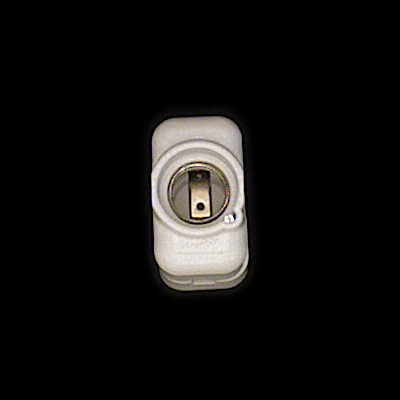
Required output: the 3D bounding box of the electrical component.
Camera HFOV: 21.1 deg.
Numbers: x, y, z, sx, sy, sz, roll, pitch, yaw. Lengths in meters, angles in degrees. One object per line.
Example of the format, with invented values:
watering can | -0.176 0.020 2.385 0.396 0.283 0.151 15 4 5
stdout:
electrical component | 0.000 0.000 0.634 0.054 0.095 0.059 -3 -16 0
